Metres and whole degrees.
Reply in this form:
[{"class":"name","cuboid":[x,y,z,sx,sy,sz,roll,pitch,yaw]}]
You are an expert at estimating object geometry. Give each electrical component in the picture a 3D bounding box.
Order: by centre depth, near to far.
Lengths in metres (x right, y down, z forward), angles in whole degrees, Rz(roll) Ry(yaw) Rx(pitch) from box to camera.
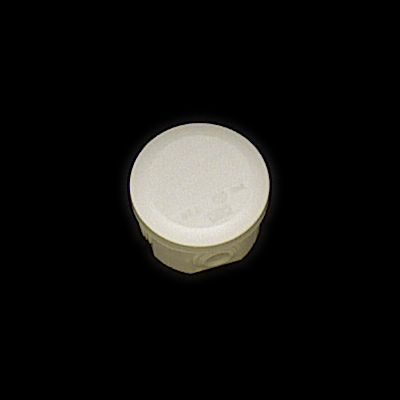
[{"class":"electrical component","cuboid":[0.000,0.000,0.629,0.080,0.080,0.050,0,-27,0]}]
